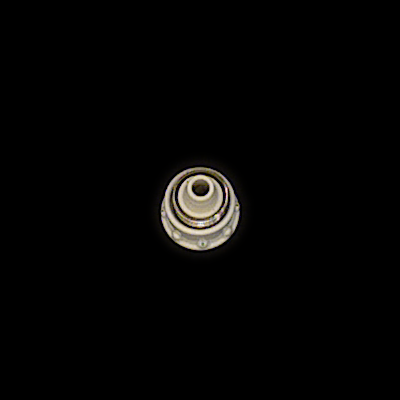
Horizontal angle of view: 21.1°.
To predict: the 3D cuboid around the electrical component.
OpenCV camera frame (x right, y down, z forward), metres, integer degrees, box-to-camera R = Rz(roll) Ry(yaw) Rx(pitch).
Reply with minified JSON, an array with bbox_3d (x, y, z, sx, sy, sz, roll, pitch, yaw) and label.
[{"bbox_3d":[0.000,0.000,0.633,0.048,0.048,0.061,0,-15,0],"label":"electrical component"}]
